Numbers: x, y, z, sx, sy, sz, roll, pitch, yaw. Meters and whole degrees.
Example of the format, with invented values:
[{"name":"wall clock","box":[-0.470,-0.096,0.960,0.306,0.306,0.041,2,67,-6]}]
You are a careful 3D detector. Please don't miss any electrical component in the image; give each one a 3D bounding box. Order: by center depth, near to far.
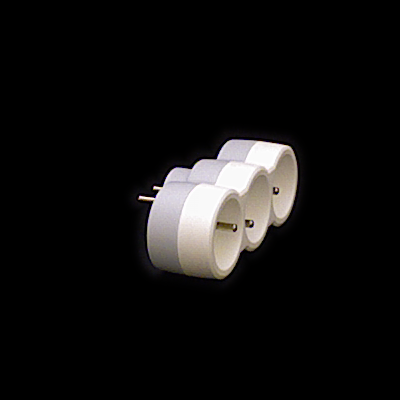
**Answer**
[{"name":"electrical component","box":[0.000,0.000,0.638,0.073,0.053,0.137,8,23,23]}]
